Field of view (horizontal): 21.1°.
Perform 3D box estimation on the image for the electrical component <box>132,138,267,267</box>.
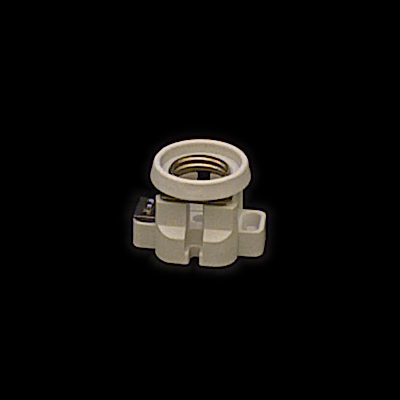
[{"bbox_3d":[0.000,0.000,0.634,0.078,0.057,0.057,5,32,6],"label":"electrical component"}]
